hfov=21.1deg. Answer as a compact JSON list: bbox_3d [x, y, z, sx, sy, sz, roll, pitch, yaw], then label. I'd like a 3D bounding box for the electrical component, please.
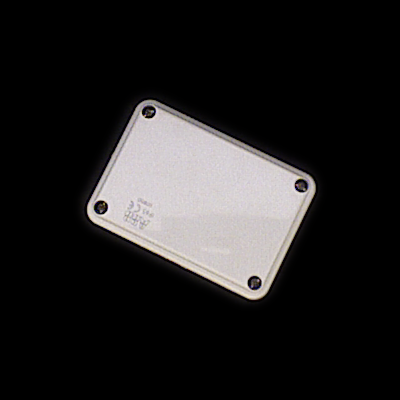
[{"bbox_3d":[0.000,0.000,0.628,0.113,0.078,0.057,26,-6,3],"label":"electrical component"}]
